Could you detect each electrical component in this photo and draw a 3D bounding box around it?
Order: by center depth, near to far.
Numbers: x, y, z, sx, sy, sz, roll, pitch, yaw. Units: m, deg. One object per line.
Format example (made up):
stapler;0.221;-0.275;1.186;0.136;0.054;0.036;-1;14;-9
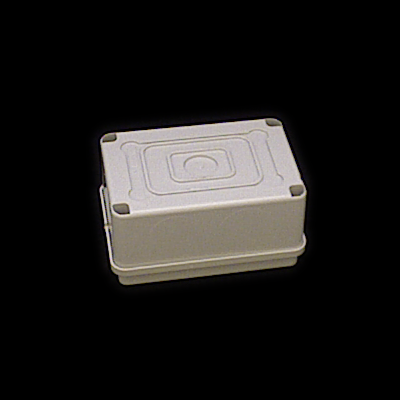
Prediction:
electrical component;0.000;0.000;0.631;0.113;0.057;0.077;-6;42;-7
